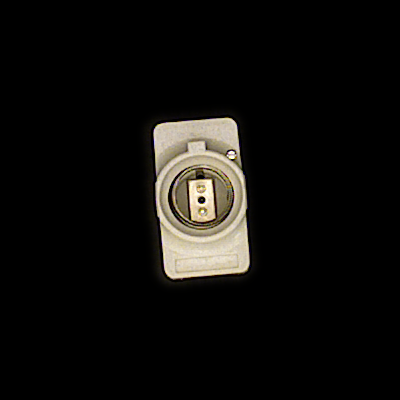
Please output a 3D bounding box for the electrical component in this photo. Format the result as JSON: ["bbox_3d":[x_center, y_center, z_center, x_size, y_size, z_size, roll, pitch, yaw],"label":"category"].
[{"bbox_3d":[0.000,0.000,0.637,0.050,0.090,0.055,-5,-6,0],"label":"electrical component"}]
